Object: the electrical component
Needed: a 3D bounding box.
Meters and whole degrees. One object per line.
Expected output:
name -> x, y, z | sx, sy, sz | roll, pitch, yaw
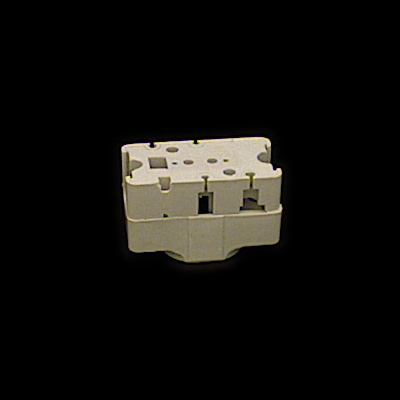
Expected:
electrical component -> 0.000, 0.000, 0.642 | 0.090, 0.056, 0.049 | -4, 33, -7
